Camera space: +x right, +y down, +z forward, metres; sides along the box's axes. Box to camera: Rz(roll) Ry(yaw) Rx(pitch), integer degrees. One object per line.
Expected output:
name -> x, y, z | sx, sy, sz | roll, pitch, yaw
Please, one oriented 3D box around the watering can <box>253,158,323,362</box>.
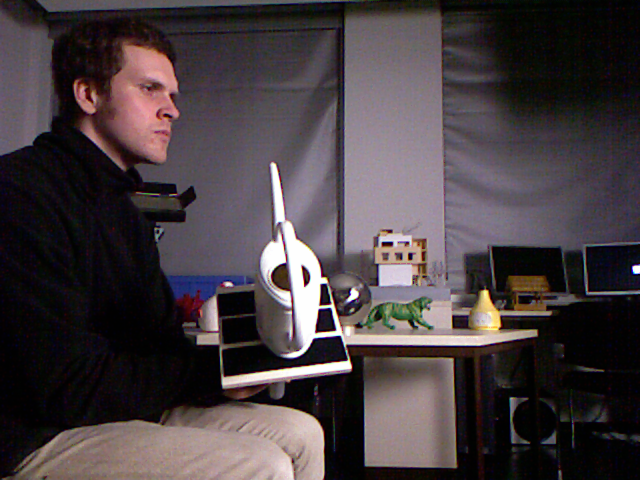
watering can -> -0.059, 0.045, 0.837 | 0.104, 0.357, 0.219 | -3, -44, -11
